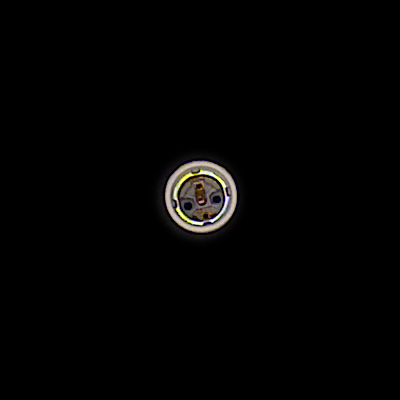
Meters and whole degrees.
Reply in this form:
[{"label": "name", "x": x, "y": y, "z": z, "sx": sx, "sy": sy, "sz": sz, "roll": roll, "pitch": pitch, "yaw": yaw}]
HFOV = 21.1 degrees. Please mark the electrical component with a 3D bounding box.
[{"label": "electrical component", "x": 0.000, "y": 0.000, "z": 0.627, "sx": 0.040, "sy": 0.040, "sz": 0.046, "roll": 0, "pitch": -6, "yaw": 0}]
